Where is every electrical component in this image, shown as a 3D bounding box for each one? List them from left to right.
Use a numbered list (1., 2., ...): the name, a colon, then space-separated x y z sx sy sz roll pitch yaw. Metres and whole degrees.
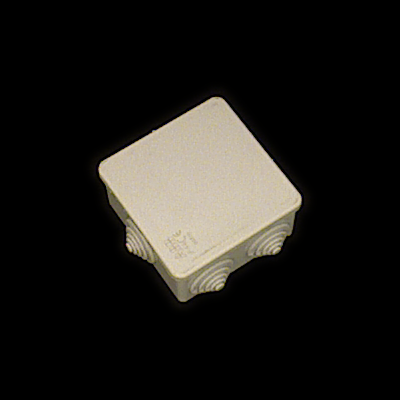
1. electrical component: 0.000 0.000 0.639 0.100 0.099 0.048 -31 -22 -15
